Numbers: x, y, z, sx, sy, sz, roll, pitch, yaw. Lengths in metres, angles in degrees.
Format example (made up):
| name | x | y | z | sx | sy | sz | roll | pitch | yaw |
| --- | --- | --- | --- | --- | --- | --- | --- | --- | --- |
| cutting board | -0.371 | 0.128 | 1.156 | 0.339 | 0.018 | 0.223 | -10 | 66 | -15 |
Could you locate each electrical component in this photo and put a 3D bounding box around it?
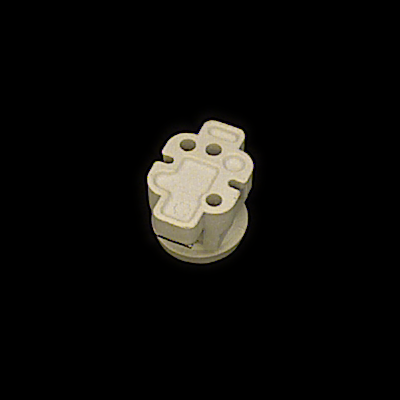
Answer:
| name | x | y | z | sx | sy | sz | roll | pitch | yaw |
| --- | --- | --- | --- | --- | --- | --- | --- | --- | --- |
| electrical component | 0.000 | 0.000 | 0.635 | 0.057 | 0.078 | 0.057 | 19 | -33 | 13 |
